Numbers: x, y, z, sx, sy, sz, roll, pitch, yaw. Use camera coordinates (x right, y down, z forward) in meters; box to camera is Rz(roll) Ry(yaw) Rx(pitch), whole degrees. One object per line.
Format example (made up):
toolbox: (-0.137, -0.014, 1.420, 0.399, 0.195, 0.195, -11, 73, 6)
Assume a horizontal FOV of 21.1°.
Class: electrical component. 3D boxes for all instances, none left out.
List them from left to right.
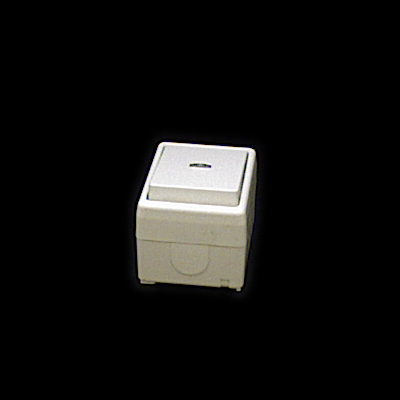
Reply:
electrical component: (0.000, 0.000, 0.636, 0.062, 0.062, 0.095, 4, 31, 6)
